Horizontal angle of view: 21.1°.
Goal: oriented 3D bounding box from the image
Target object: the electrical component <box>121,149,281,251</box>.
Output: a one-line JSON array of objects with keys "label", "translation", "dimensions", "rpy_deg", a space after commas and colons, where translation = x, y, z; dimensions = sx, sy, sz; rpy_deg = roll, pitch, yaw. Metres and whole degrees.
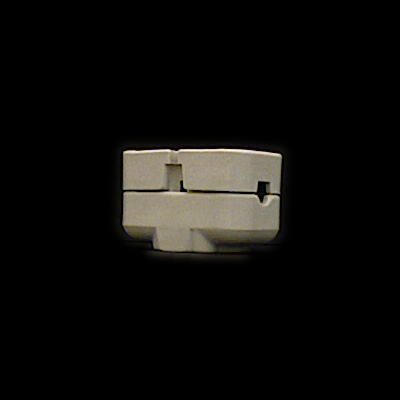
[{"label": "electrical component", "translation": [0.000, 0.000, 0.654], "dimensions": [0.094, 0.059, 0.054], "rpy_deg": [2, 2, 37]}]
